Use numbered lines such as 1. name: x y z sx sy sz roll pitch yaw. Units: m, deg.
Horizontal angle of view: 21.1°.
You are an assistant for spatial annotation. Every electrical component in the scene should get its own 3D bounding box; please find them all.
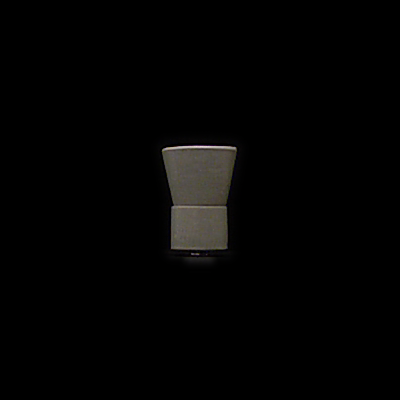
1. electrical component: 0.000 0.000 0.648 0.044 0.065 0.044 0 2 0
